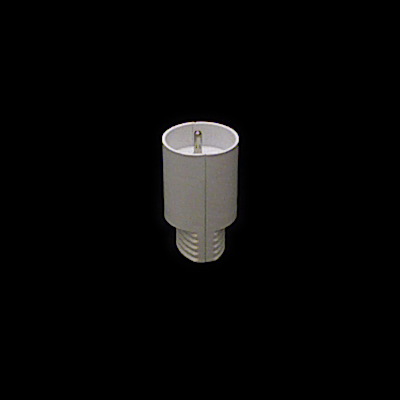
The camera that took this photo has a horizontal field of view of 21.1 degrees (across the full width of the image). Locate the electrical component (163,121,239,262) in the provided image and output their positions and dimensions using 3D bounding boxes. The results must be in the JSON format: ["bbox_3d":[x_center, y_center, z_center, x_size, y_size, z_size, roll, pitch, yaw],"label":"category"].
[{"bbox_3d":[0.000,0.000,0.629,0.043,0.082,0.042,1,31,0],"label":"electrical component"}]
